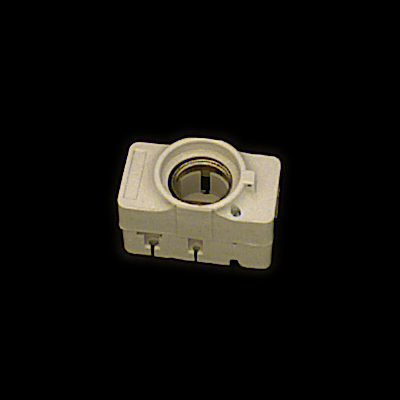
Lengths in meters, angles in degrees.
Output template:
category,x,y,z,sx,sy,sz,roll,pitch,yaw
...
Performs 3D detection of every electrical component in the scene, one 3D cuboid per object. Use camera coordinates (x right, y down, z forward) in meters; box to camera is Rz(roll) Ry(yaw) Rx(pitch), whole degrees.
category,x,y,z,sx,sy,sz,roll,pitch,yaw
electrical component,0.000,0.000,0.637,0.089,0.050,0.056,6,-37,4
